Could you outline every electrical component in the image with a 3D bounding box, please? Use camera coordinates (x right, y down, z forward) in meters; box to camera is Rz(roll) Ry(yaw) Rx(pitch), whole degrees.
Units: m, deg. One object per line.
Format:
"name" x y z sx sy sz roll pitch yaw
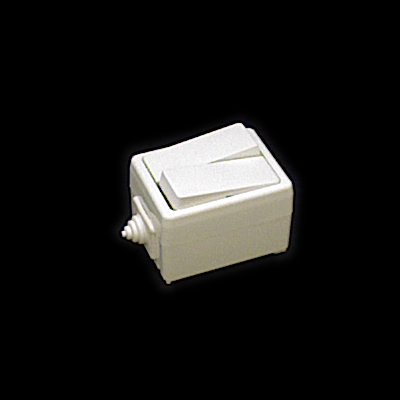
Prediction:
"electrical component" 0.000 0.000 0.630 0.096 0.061 0.061 -14 44 -17
